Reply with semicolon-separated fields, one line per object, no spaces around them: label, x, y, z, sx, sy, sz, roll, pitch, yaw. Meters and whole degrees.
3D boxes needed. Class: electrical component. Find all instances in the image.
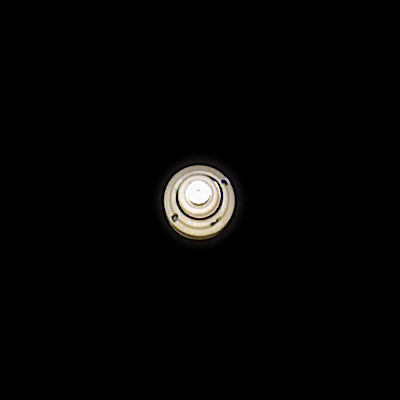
electrical component;0.000;0.000;0.618;0.040;0.040;0.078;0;-7;0
